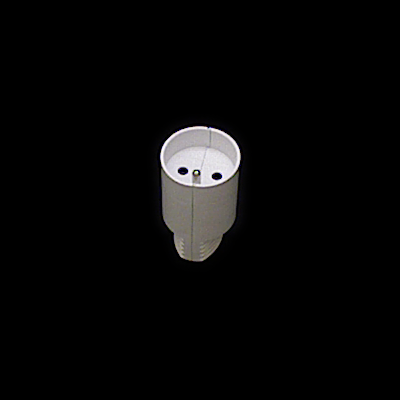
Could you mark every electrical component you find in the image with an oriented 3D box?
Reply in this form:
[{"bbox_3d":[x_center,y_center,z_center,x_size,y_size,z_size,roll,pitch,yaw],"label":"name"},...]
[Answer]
[{"bbox_3d":[0.000,0.000,0.618,0.043,0.043,0.081,0,-37,0],"label":"electrical component"}]
